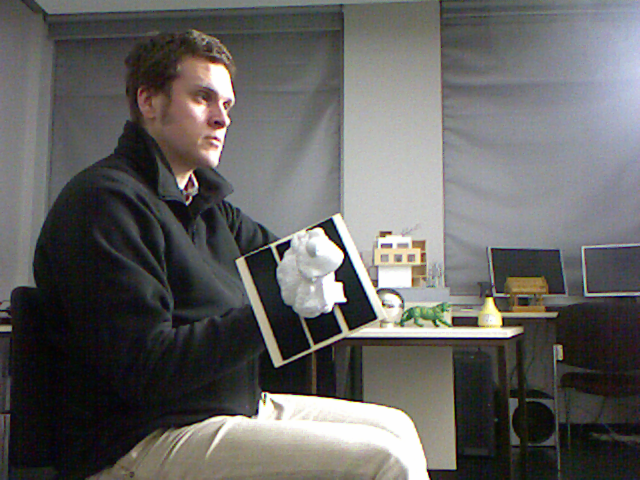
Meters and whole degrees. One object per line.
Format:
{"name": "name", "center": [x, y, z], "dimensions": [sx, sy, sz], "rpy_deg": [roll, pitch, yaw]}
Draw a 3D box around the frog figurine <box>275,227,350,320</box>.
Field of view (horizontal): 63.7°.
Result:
{"name": "frog figurine", "center": [-0.019, 0.050, 0.797], "dimensions": [0.123, 0.140, 0.158], "rpy_deg": [-6, -18, 9]}
